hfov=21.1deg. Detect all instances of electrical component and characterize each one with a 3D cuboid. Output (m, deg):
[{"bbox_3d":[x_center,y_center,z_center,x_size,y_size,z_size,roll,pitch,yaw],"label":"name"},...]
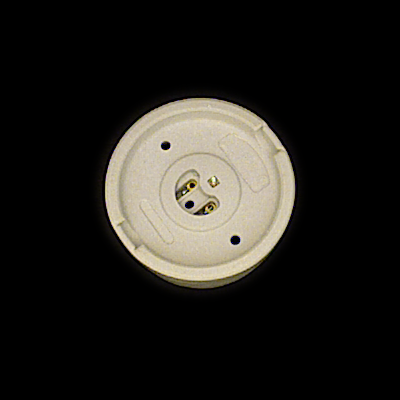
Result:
[{"bbox_3d":[0.000,0.000,0.635,0.108,0.108,0.060,0,-16,1],"label":"electrical component"}]
